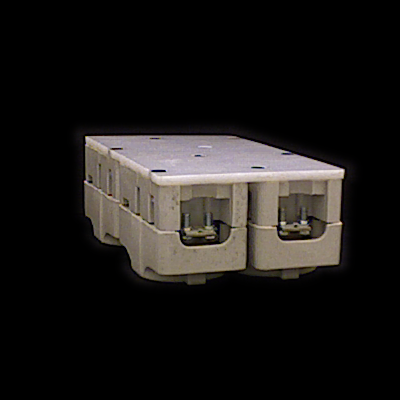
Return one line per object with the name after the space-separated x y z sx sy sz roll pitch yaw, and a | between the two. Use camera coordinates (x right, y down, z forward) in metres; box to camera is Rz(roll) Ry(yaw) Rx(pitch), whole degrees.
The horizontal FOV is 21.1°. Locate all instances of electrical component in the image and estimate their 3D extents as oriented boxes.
0.000 0.000 0.643 0.106 0.060 0.184 -2 10 -18 | electrical component
